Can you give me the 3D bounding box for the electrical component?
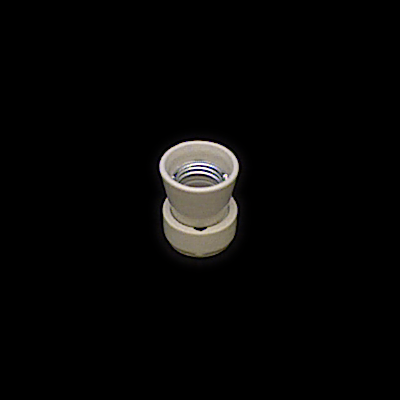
[{"bbox_3d":[0.000,0.000,0.630,0.045,0.055,0.044,0,42,0],"label":"electrical component"}]
